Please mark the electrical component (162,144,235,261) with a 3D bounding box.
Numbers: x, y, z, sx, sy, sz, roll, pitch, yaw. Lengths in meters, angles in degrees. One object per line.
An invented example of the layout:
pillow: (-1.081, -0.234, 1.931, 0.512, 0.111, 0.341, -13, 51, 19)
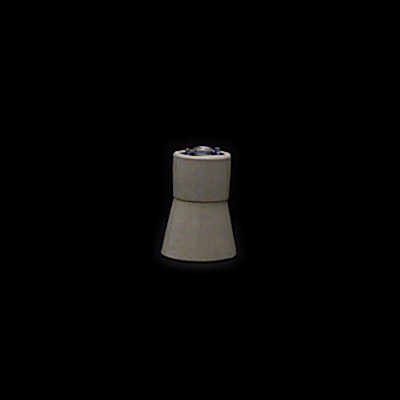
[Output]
electrical component: (0.000, 0.000, 0.642, 0.044, 0.066, 0.044, 2, 12, 0)
